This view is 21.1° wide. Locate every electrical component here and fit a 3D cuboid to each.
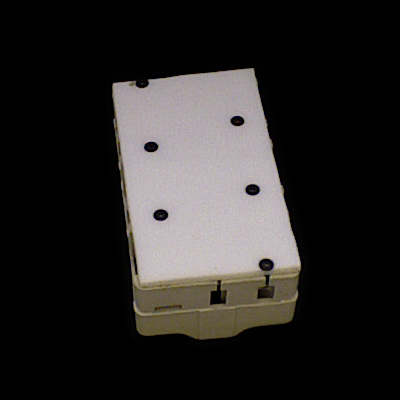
[{"bbox_3d":[0.000,0.000,0.631,0.089,0.148,0.062,-6,-37,-5],"label":"electrical component"}]
